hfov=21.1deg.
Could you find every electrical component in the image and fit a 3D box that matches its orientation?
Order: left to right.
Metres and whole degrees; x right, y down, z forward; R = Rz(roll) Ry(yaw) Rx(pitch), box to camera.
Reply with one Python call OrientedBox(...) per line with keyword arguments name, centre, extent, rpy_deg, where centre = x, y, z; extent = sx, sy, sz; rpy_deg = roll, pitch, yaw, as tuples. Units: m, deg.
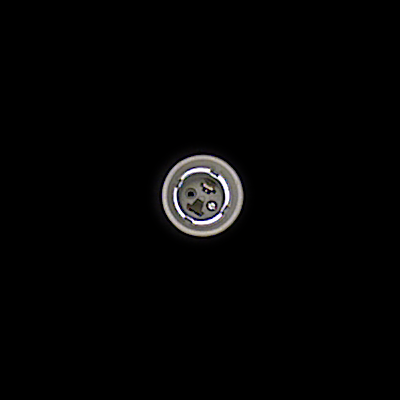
OrientedBox(name="electrical component", centre=(0.000, 0.000, 0.624), extent=(0.044, 0.044, 0.065), rpy_deg=(0, -6, -1))
